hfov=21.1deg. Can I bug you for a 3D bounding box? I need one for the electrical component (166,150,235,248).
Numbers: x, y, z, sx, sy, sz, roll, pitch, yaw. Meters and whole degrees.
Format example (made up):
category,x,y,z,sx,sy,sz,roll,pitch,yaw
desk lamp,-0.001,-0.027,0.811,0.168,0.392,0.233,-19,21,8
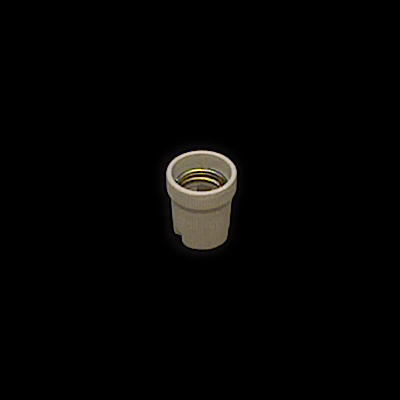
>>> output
category,x,y,z,sx,sy,sz,roll,pitch,yaw
electrical component,0.000,0.000,0.633,0.040,0.047,0.039,1,42,0
